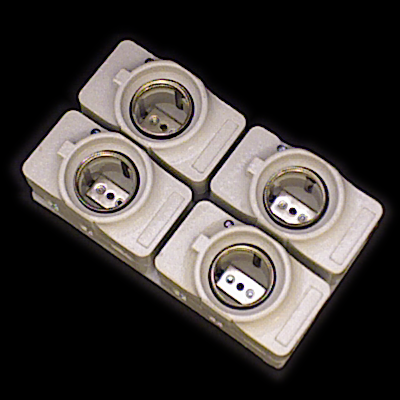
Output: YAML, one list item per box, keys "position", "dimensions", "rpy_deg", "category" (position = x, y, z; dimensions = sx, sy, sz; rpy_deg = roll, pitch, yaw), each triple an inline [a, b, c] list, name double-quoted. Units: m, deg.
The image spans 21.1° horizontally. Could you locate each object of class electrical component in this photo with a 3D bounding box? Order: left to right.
- position: [0.000, 0.000, 0.625]
  dimensions: [0.186, 0.106, 0.060]
  rpy_deg: [34, -14, 10]
  category: "electrical component"
